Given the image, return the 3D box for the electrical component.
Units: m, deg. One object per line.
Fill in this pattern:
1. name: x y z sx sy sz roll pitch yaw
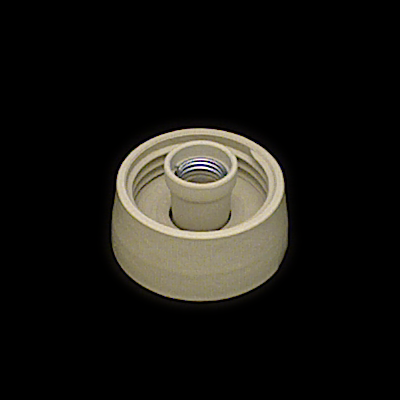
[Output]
1. electrical component: 0.000 0.000 0.638 0.108 0.061 0.107 1 42 0
